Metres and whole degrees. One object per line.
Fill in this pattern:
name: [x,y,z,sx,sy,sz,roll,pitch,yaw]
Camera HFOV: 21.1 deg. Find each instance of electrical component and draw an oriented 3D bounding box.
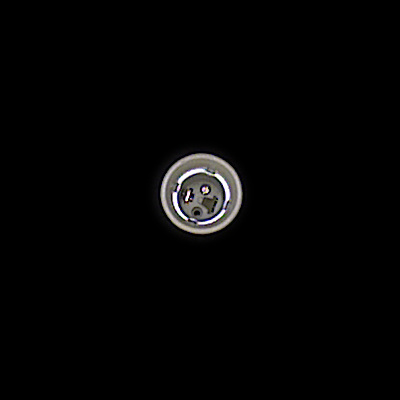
electrical component: [0.000,0.000,0.625,0.044,0.044,0.065,0,-7,1]
